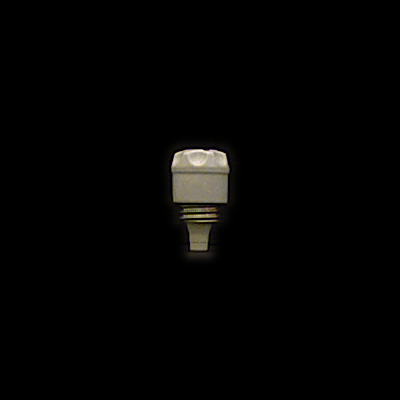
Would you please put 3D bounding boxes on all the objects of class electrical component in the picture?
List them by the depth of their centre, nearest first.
[{"bbox_3d":[0.000,0.000,0.654,0.035,0.061,0.035,1,2,0],"label":"electrical component"}]
